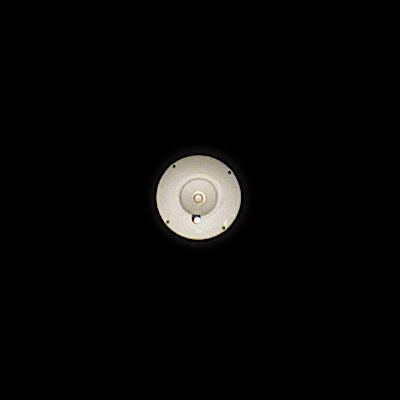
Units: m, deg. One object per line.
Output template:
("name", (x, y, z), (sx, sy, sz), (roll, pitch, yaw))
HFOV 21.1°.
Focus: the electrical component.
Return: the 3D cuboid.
("electrical component", (0.000, 0.000, 0.634), (0.048, 0.048, 0.062), (0, -5, 1))
